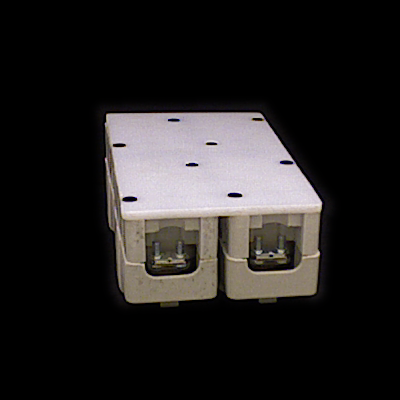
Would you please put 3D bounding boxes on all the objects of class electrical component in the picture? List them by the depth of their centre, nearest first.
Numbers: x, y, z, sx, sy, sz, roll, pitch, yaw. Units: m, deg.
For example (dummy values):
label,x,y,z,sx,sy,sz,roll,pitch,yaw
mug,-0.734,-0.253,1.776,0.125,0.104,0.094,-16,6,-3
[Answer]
label,x,y,z,sx,sy,sz,roll,pitch,yaw
electrical component,0.000,0.000,0.638,0.105,0.061,0.183,-1,20,-7
